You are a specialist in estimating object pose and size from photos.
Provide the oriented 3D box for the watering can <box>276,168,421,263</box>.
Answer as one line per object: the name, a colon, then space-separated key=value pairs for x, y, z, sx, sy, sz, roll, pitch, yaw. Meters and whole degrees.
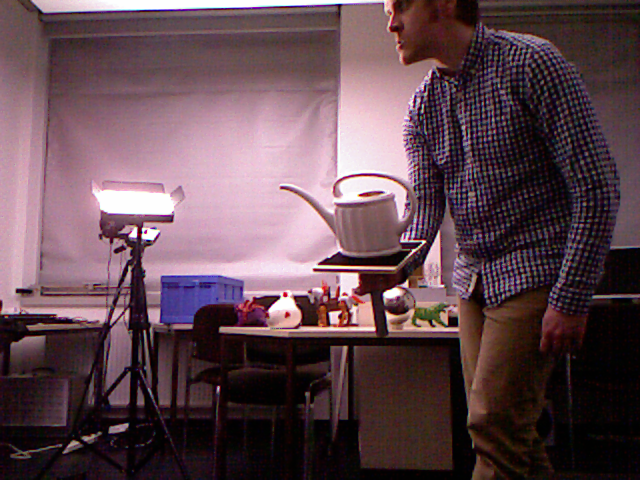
watering can: x=0.066 y=-0.054 z=1.196 sx=0.348 sy=0.222 sz=0.106 roll=-1 pitch=18 yaw=27
